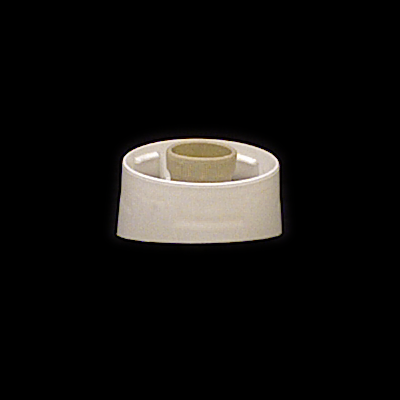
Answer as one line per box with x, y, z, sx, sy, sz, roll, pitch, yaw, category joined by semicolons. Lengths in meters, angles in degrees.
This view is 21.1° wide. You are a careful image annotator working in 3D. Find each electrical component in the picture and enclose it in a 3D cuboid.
0.000;0.000;0.638;0.099;0.065;0.097;1;20;0;electrical component
